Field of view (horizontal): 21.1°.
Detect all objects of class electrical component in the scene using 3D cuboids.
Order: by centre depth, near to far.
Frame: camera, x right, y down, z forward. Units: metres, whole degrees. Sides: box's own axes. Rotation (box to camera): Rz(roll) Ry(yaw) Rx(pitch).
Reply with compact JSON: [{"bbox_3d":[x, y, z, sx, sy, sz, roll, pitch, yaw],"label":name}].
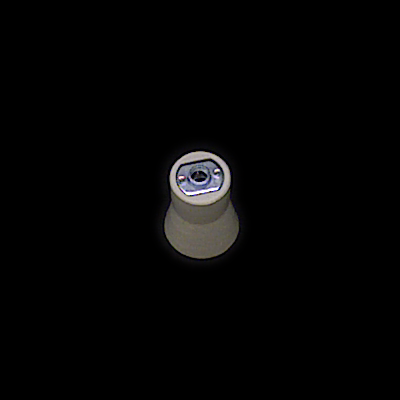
[{"bbox_3d":[0.000,0.000,0.626,0.044,0.044,0.065,0,-28,1],"label":"electrical component"}]
